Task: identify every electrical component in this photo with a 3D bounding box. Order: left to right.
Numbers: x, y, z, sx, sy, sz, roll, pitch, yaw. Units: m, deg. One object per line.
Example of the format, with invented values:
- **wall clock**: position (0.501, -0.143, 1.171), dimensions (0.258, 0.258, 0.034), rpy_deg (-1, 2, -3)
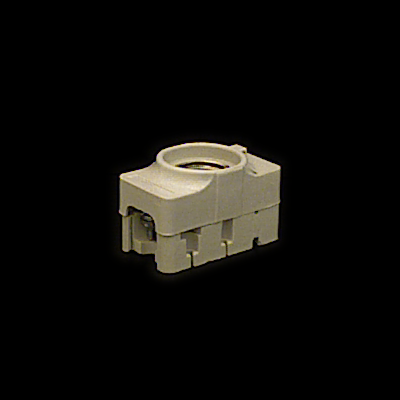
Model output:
- **electrical component**: position (0.000, 0.000, 0.646), dimensions (0.090, 0.056, 0.049), rpy_deg (-17, 28, -37)
